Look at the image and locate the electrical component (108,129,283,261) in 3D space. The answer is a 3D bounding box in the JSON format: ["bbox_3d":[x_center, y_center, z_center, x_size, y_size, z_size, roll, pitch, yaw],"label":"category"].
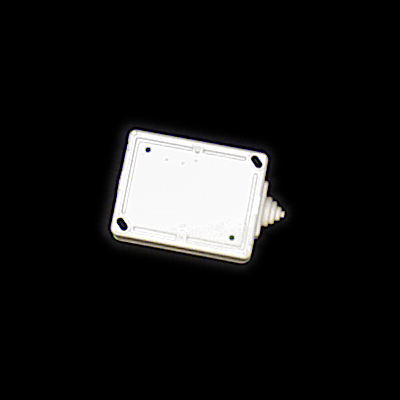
[{"bbox_3d":[0.000,0.000,0.627,0.096,0.062,0.061,10,-7,2],"label":"electrical component"}]
